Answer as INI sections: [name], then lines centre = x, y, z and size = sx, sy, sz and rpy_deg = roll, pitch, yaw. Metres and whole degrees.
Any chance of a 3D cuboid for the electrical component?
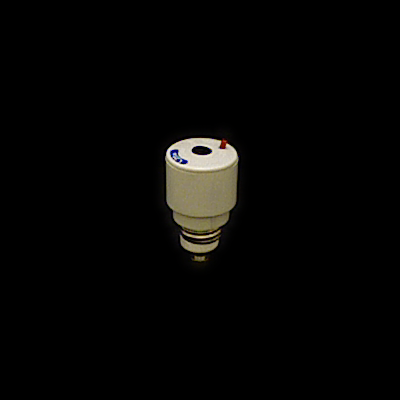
[electrical component]
centre = 0.000, 0.000, 0.630
size = 0.040, 0.079, 0.039
rpy_deg = 1, 31, -1
